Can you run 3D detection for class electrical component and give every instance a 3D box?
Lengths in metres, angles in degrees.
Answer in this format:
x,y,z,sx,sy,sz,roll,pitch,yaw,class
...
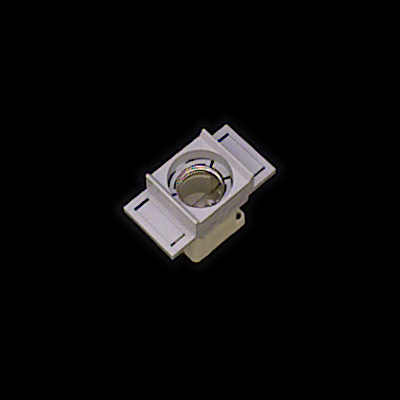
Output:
x,y,z,sx,sy,sz,roll,pitch,yaw,class
0.000,0.000,0.625,0.081,0.042,0.064,-39,-22,-18,electrical component
